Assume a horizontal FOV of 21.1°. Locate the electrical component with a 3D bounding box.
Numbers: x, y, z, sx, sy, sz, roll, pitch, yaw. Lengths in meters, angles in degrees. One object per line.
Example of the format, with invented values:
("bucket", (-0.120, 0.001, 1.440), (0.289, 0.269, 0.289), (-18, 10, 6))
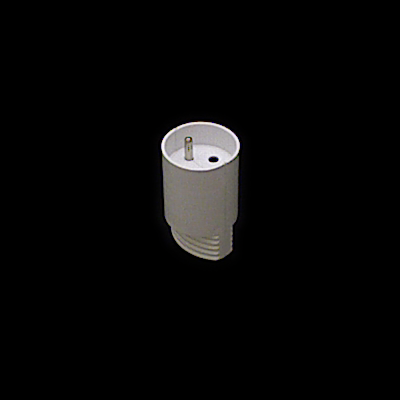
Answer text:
("electrical component", (0.000, 0.000, 0.622), (0.043, 0.082, 0.042), (0, 41, 0))
